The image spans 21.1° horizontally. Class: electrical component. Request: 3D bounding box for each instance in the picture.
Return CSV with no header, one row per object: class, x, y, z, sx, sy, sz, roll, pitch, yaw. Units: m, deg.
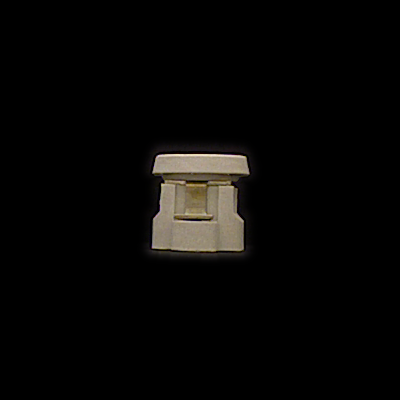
electrical component,0.000,0.000,0.648,0.058,0.057,0.078,1,0,5
